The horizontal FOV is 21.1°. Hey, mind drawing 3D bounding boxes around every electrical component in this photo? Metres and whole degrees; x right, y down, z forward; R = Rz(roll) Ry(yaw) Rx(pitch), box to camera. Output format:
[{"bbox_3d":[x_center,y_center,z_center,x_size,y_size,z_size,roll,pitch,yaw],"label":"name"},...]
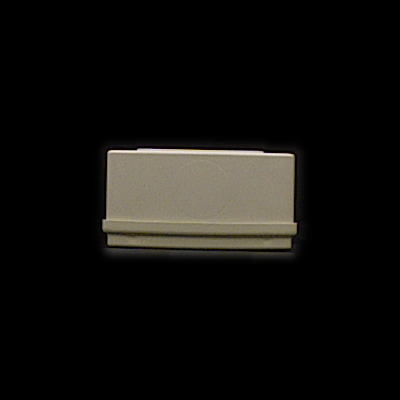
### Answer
[{"bbox_3d":[0.000,0.000,0.647,0.109,0.056,0.108,1,0,-2],"label":"electrical component"}]
